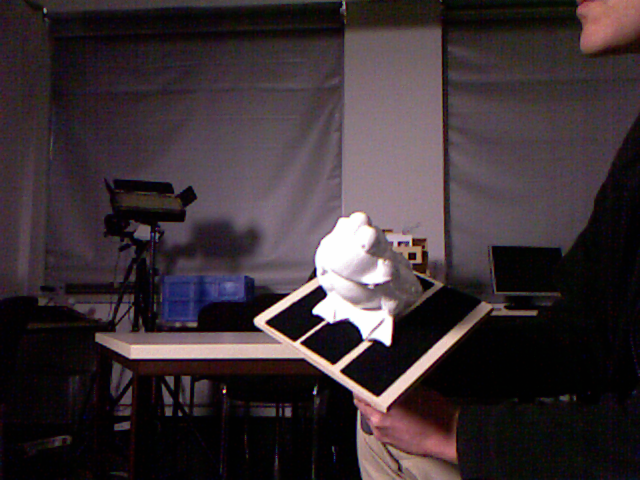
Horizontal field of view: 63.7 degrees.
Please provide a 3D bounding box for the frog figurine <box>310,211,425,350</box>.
[{"bbox_3d":[0.050,0.026,0.571,0.124,0.156,0.139,-25,39,-29],"label":"frog figurine"}]
